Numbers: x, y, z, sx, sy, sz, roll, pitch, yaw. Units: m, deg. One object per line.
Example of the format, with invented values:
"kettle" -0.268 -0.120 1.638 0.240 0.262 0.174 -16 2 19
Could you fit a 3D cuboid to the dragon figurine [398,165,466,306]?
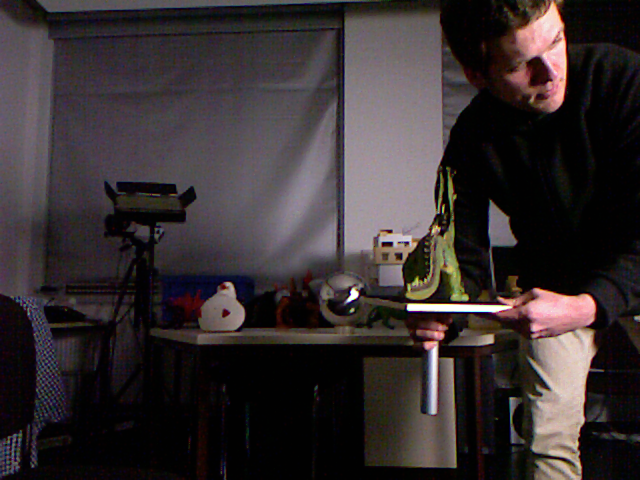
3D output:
"dragon figurine" 0.217 -0.018 0.951 0.122 0.243 0.410 5 1 14
